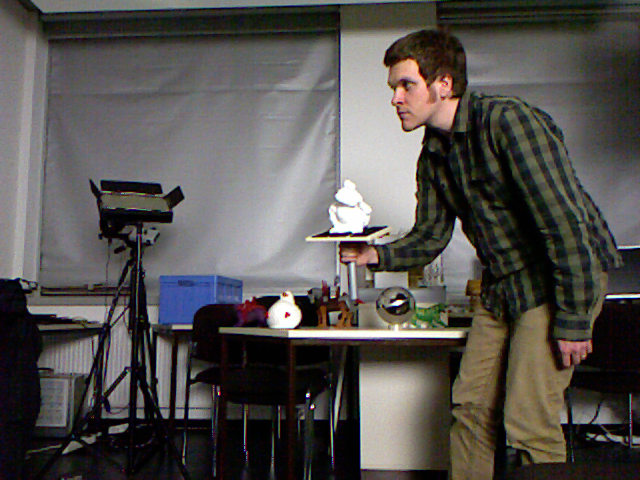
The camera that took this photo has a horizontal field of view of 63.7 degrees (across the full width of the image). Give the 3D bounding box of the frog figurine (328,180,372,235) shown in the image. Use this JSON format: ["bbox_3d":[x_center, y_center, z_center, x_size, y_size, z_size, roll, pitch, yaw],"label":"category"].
[{"bbox_3d":[0.085,-0.101,1.534,0.137,0.159,0.124,3,10,41],"label":"frog figurine"}]
